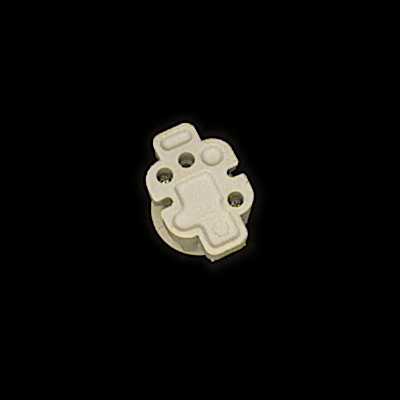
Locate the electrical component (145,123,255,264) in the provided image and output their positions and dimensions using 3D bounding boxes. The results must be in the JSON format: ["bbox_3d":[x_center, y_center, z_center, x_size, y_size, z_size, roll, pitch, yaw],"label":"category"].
[{"bbox_3d":[0.000,0.000,0.635,0.058,0.078,0.056,-26,-13,-8],"label":"electrical component"}]
